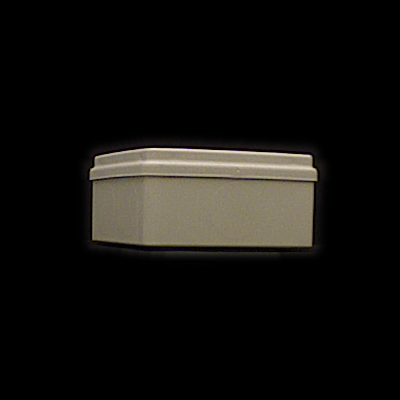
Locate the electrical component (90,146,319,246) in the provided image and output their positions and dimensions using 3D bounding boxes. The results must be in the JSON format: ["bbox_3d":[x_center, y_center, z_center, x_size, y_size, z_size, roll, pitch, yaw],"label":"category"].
[{"bbox_3d":[0.000,0.000,0.650,0.109,0.056,0.108,1,0,-24],"label":"electrical component"}]
